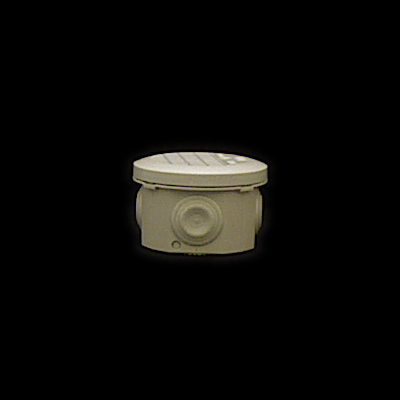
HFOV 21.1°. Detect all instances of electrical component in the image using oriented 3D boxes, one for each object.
[{"bbox_3d":[0.000,0.000,0.642,0.080,0.051,0.079,1,10,0],"label":"electrical component"}]
